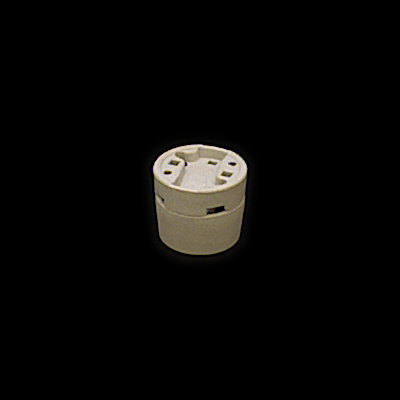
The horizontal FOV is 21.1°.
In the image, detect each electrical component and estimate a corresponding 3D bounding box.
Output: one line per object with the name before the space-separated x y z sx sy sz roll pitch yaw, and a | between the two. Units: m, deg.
electrical component | 0.000 0.000 0.637 0.055 0.047 0.055 1 31 0
